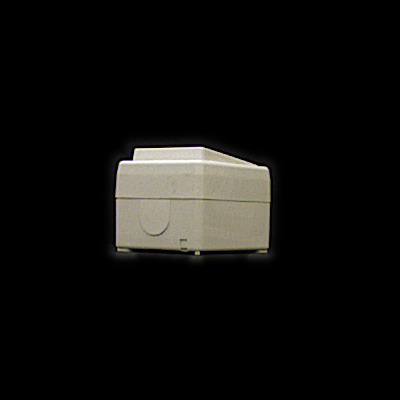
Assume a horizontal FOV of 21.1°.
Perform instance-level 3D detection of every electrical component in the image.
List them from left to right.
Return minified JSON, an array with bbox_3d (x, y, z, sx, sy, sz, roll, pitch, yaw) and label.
[{"bbox_3d":[0.000,0.000,0.652,0.061,0.061,0.096,2,0,34],"label":"electrical component"}]
